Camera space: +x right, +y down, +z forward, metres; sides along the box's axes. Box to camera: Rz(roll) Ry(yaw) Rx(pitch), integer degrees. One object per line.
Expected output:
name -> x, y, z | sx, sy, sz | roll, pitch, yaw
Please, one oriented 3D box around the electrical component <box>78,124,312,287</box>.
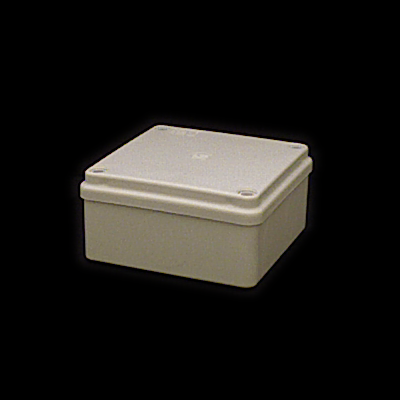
electrical component -> 0.000, 0.000, 0.638 | 0.108, 0.057, 0.108 | 9, 23, 20
